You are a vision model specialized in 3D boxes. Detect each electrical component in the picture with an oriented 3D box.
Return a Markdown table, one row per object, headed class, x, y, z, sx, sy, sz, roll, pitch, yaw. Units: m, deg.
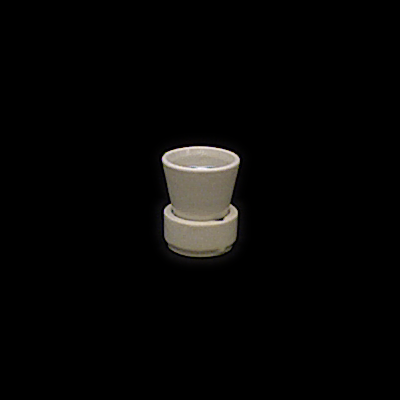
| class | x | y | z | sx | sy | sz | roll | pitch | yaw |
| --- | --- | --- | --- | --- | --- | --- | --- | --- | --- |
| electrical component | 0.000 | 0.000 | 0.637 | 0.045 | 0.056 | 0.044 | 0 | 21 | 0 |
